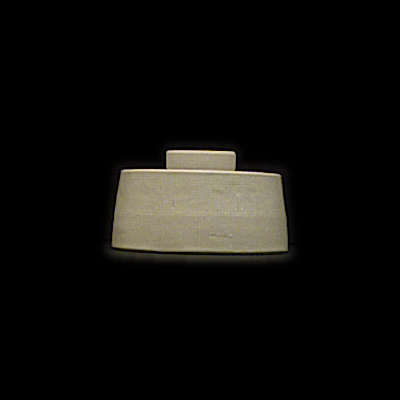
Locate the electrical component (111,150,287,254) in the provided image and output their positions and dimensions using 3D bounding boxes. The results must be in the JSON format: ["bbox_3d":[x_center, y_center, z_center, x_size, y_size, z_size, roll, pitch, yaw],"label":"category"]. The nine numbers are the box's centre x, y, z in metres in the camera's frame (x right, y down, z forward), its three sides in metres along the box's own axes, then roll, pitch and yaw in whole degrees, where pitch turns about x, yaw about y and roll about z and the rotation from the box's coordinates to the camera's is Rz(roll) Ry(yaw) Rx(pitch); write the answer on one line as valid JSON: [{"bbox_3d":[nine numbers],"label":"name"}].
[{"bbox_3d":[0.000,0.000,0.658,0.108,0.060,0.108,1,1,1],"label":"electrical component"}]
